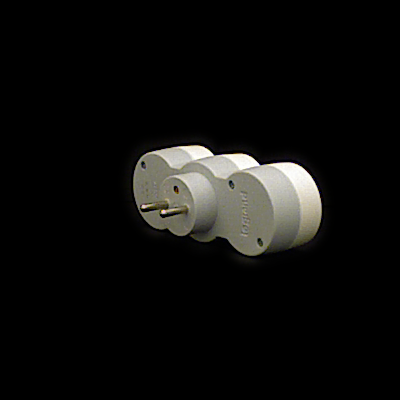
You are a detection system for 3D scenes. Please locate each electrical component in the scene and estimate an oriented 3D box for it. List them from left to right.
[{"bbox_3d":[0.000,0.000,0.651,0.074,0.052,0.136,-10,16,-39],"label":"electrical component"}]
